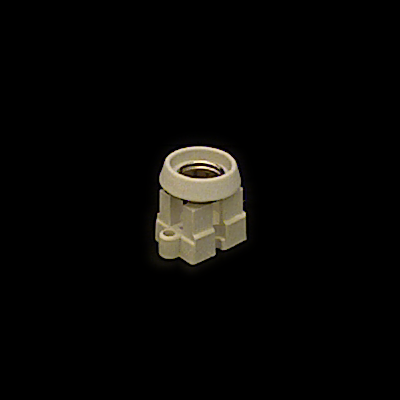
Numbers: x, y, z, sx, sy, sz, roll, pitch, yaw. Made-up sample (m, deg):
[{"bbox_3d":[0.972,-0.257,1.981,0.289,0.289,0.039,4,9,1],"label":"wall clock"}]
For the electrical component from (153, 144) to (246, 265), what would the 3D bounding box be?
[{"bbox_3d":[0.000,0.000,0.644,0.067,0.056,0.047,-25,42,-35],"label":"electrical component"}]
